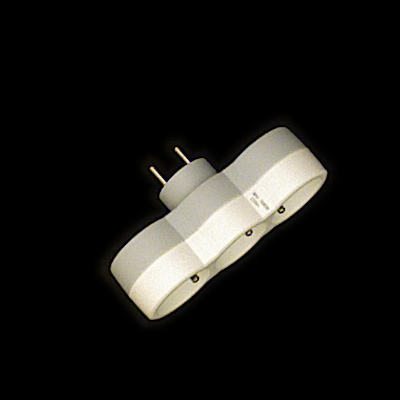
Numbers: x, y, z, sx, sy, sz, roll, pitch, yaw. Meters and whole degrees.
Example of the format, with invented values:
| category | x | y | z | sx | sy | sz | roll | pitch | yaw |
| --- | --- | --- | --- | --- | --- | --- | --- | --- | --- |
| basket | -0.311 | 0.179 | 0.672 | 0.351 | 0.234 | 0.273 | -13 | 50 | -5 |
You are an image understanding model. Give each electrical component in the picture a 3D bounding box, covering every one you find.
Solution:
| category | x | y | z | sx | sy | sz | roll | pitch | yaw |
| --- | --- | --- | --- | --- | --- | --- | --- | --- | --- |
| electrical component | 0.000 | 0.000 | 0.639 | 0.139 | 0.073 | 0.052 | -38 | -14 | -10 |
